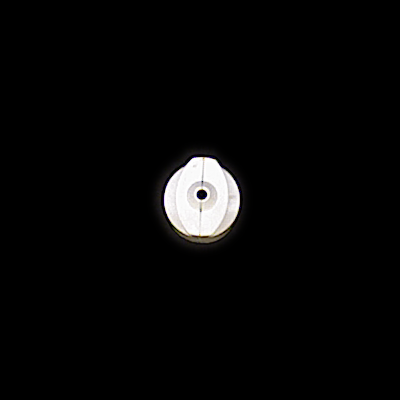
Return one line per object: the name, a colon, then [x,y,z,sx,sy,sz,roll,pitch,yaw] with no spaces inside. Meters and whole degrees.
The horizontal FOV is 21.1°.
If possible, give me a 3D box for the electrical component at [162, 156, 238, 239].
electrical component: [0.000,0.000,0.616,0.043,0.043,0.080,0,-6,1]
